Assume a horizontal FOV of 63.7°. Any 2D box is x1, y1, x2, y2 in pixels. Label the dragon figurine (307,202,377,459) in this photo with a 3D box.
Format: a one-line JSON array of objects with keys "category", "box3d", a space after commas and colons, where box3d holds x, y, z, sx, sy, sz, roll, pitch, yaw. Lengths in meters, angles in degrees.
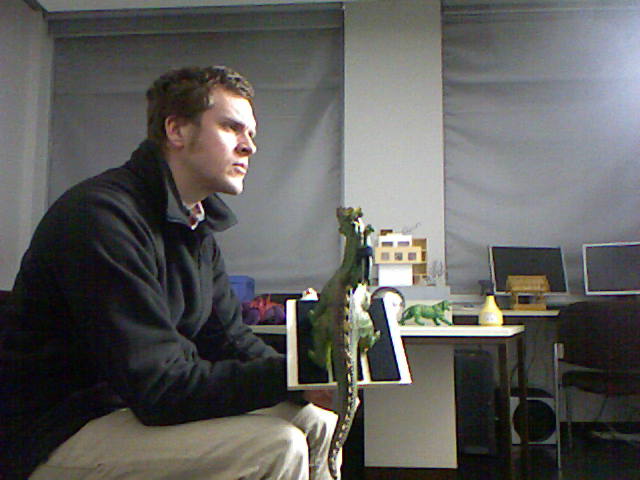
[{"category": "dragon figurine", "box3d": [0.047, 0.094, 0.818, 0.122, 0.237, 0.422, 2, 42, -3]}]
